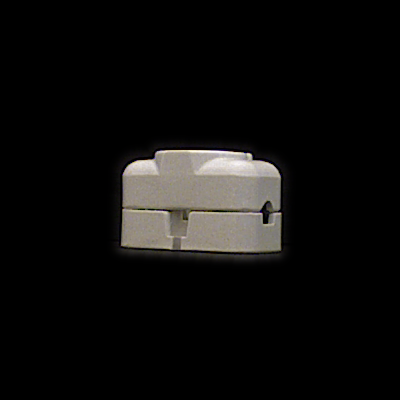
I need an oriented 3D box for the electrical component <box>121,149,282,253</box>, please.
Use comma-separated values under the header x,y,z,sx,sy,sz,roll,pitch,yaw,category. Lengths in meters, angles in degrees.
x,y,z,sx,sy,sz,roll,pitch,yaw,category
0.000,0.000,0.658,0.094,0.059,0.054,2,2,31,electrical component
